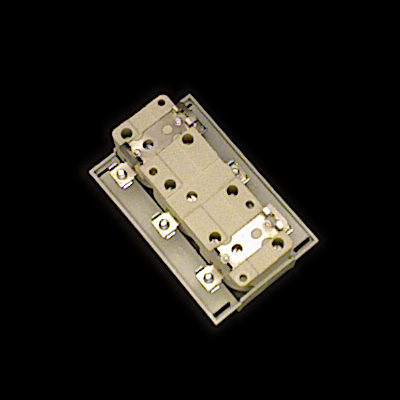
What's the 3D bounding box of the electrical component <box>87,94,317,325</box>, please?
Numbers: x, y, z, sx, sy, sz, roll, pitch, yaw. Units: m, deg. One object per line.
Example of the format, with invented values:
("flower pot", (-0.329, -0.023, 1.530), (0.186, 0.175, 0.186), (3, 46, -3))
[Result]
("electrical component", (0.000, 0.000, 0.634), (0.079, 0.121, 0.063), (-38, -13, -10))
